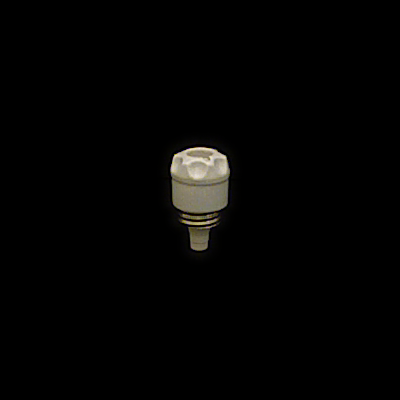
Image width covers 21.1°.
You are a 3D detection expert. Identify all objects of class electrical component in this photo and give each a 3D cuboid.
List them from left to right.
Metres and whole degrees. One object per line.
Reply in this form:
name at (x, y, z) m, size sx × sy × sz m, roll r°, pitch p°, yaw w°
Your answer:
electrical component at (0.000, 0.000, 0.643) m, size 0.035 × 0.062 × 0.035 m, roll 1°, pitch 22°, yaw 0°
